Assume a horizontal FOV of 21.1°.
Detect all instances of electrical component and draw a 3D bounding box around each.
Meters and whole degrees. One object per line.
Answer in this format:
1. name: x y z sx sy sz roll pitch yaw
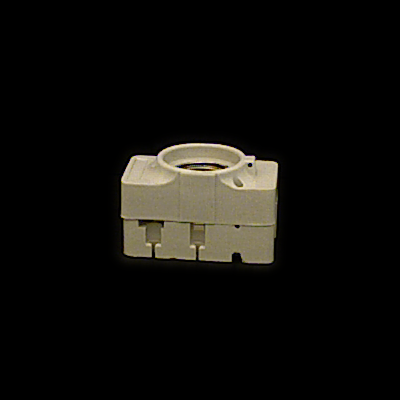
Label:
1. electrical component: 0.000 0.000 0.646 0.089 0.056 0.049 2 22 4
